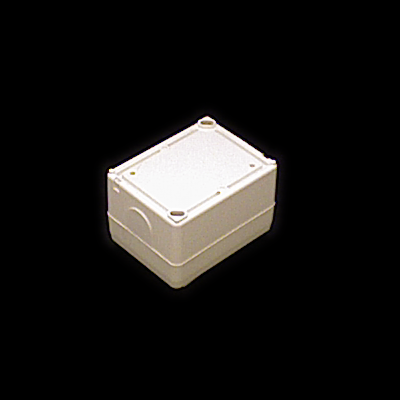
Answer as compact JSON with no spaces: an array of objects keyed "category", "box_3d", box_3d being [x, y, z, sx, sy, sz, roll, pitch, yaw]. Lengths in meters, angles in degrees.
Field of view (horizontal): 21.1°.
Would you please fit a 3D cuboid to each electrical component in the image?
[{"category":"electrical component","box_3d":[0.000,0.000,0.631,0.096,0.061,0.061,-31,51,-32]}]
